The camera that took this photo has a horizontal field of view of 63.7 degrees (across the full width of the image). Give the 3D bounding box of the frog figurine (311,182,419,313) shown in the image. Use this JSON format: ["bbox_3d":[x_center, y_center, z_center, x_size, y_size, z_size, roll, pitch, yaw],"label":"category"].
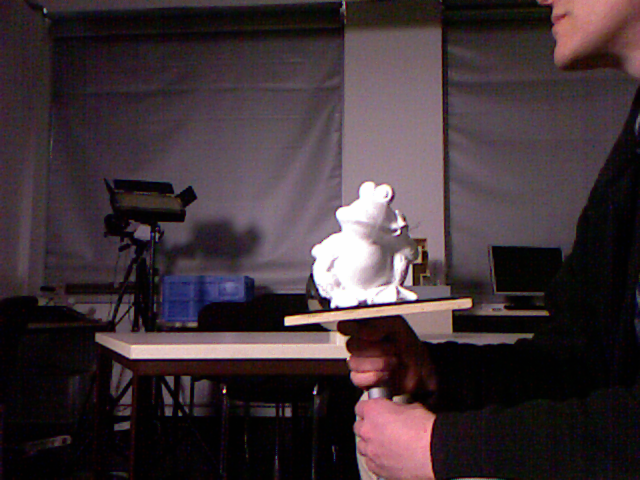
[{"bbox_3d":[0.055,0.010,0.654,0.137,0.160,0.122,-6,-5,9],"label":"frog figurine"}]
